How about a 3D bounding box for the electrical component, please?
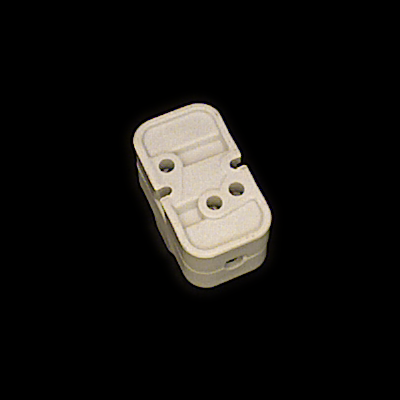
[{"bbox_3d":[0.000,0.000,0.636,0.054,0.095,0.059,-22,-25,-10],"label":"electrical component"}]
